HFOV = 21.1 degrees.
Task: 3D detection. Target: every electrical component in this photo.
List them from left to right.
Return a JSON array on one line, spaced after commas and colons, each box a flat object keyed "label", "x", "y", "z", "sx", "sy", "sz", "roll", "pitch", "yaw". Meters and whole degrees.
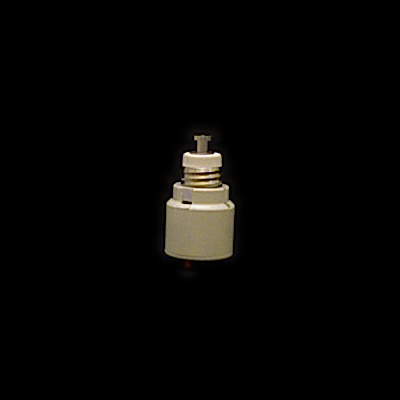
[{"label": "electrical component", "x": 0.000, "y": 0.000, "z": 0.643, "sx": 0.040, "sy": 0.079, "sz": 0.040, "roll": 2, "pitch": 11, "yaw": 0}]
